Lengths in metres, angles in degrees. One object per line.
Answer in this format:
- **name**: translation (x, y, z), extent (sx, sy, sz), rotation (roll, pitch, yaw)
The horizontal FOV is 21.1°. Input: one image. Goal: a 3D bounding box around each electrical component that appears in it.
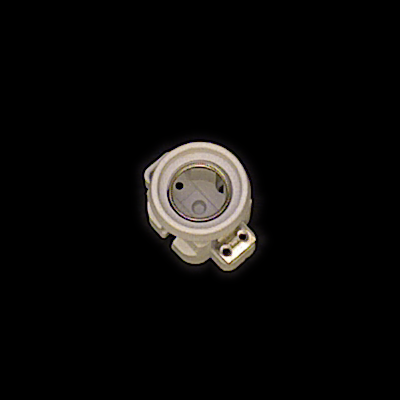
- **electrical component**: translation (0.000, 0.000, 0.628), extent (0.058, 0.078, 0.056), rotation (-41, -12, -11)
